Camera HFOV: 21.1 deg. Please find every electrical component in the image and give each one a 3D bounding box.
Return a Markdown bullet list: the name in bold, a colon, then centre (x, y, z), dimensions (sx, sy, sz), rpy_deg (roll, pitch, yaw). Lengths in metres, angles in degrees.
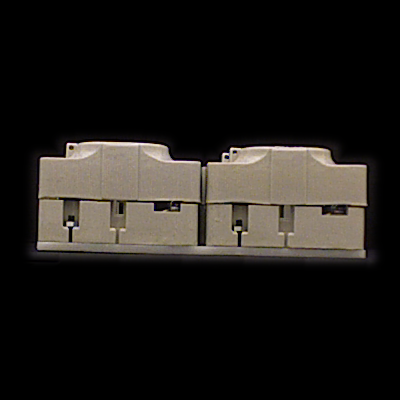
- **electrical component**: centre (0.000, 0.000, 0.648), dimensions (0.186, 0.060, 0.105), rpy_deg (1, 0, -3)
